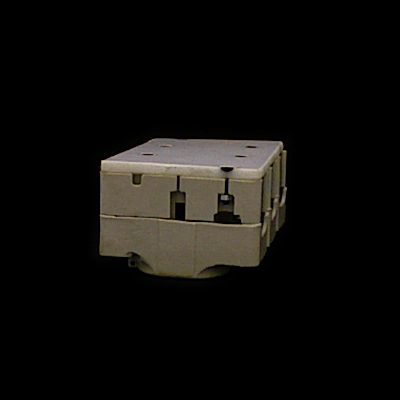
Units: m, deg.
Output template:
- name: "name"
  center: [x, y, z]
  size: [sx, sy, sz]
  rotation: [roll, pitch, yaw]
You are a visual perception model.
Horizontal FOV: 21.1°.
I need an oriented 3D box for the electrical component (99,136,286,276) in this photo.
- name: "electrical component"
  center: [0.000, 0.000, 0.654]
  size: [0.089, 0.062, 0.148]
  rotation: [3, 9, 9]
